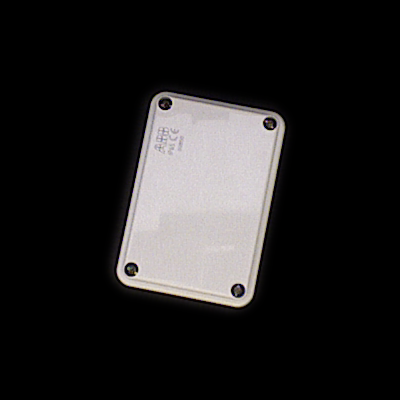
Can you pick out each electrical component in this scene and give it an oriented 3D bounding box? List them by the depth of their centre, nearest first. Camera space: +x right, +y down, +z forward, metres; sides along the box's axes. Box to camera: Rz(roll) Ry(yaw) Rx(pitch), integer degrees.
[{"bbox_3d":[0.000,0.000,0.628,0.078,0.113,0.057,11,-6,2],"label":"electrical component"}]
